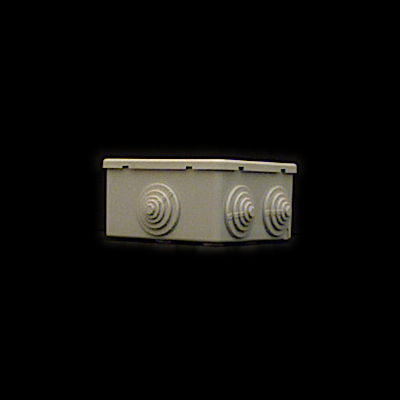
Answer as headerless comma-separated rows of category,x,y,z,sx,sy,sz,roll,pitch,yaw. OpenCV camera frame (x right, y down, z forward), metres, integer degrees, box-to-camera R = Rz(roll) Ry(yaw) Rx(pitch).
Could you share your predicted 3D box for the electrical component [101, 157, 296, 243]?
electrical component,0.000,0.000,0.656,0.099,0.048,0.100,2,1,35
